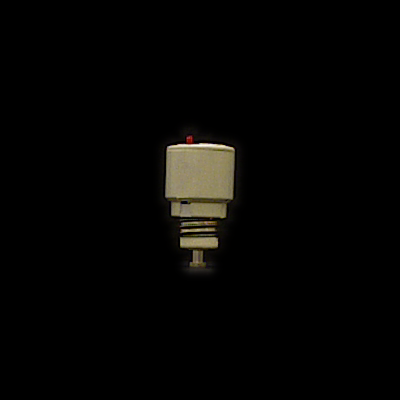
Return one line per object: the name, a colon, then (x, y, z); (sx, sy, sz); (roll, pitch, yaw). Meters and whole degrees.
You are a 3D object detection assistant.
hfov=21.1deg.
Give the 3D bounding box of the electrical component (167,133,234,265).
electrical component: (0.000, 0.000, 0.647); (0.040, 0.078, 0.040); (1, 2, 0)
